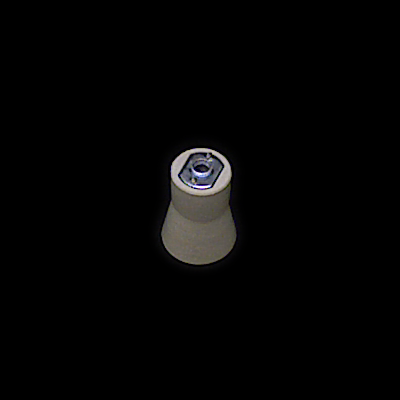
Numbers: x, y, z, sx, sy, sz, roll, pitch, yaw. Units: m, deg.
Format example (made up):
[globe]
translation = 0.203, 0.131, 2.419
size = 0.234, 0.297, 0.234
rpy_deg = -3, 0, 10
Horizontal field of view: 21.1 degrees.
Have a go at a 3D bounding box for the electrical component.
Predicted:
[electrical component]
translation = 0.000, 0.000, 0.626
size = 0.044, 0.044, 0.065
rpy_deg = 0, -38, -2
